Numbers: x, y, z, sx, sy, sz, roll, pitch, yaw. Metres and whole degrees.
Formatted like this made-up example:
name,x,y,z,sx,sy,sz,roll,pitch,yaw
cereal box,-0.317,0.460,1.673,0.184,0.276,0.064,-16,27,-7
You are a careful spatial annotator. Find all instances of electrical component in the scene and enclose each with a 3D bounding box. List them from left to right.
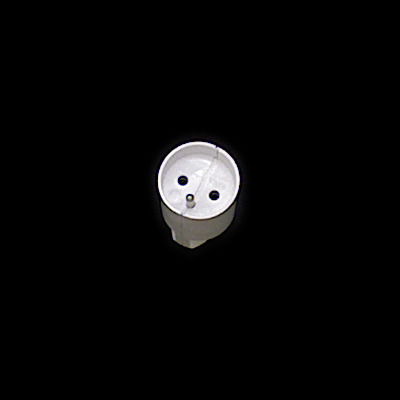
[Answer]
name,x,y,z,sx,sy,sz,roll,pitch,yaw
electrical component,0.000,0.000,0.614,0.043,0.043,0.080,0,-16,1
